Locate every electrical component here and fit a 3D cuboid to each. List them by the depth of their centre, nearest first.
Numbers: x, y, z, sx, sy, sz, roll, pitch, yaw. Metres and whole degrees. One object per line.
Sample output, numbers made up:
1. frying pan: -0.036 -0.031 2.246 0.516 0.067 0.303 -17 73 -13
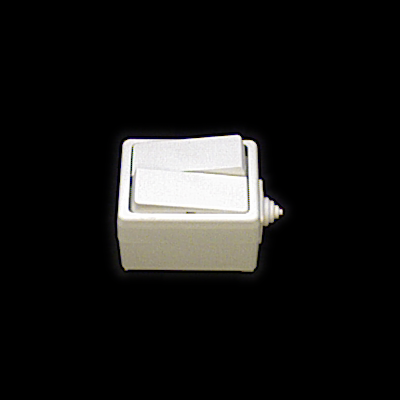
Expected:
1. electrical component: 0.000 0.000 0.628 0.096 0.061 0.061 1 -38 0
